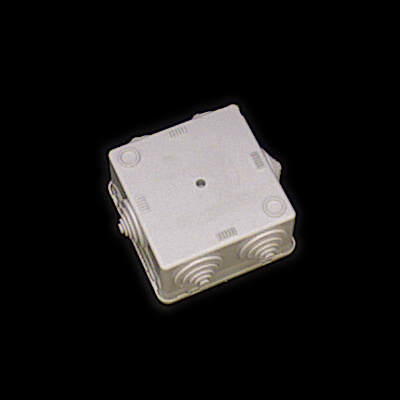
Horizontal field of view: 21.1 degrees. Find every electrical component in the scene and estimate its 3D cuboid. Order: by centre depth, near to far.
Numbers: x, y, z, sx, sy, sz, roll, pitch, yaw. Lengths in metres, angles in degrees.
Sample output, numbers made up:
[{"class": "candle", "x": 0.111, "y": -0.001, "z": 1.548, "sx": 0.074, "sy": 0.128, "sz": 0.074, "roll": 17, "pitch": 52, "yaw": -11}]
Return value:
[{"class": "electrical component", "x": 0.000, "y": 0.000, "z": 0.632, "sx": 0.100, "sy": 0.099, "sz": 0.048, "roll": -21, "pitch": -25, "yaw": -11}]
